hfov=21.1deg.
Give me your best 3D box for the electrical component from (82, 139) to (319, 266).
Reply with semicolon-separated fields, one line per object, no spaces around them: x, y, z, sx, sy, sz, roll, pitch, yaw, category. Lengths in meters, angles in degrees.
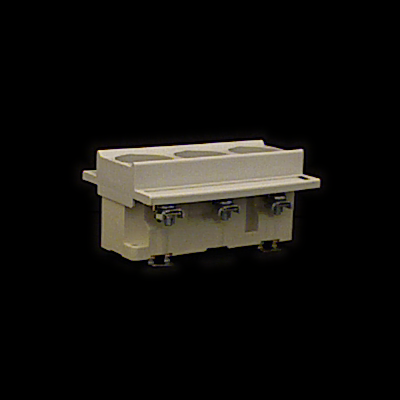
0.000;0.000;0.657;0.121;0.063;0.078;-6;15;-33;electrical component
